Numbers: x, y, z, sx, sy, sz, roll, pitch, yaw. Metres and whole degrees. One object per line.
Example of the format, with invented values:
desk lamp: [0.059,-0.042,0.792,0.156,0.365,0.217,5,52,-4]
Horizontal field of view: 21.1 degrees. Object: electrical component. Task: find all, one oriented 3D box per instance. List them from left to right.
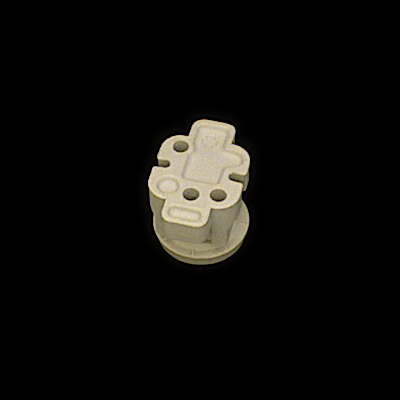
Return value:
electrical component: [0.000,0.000,0.638,0.057,0.078,0.057,10,-38,8]
